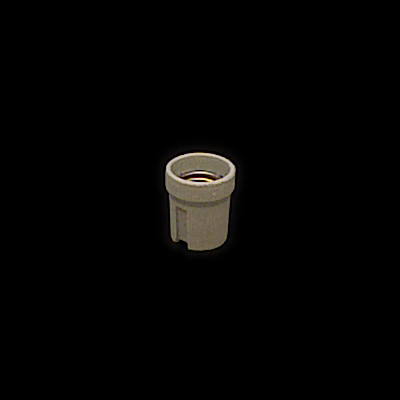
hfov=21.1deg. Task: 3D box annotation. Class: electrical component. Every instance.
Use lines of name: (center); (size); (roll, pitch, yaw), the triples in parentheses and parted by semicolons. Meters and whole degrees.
electrical component: (0.000, 0.000, 0.637); (0.040, 0.047, 0.039); (1, 32, 0)
